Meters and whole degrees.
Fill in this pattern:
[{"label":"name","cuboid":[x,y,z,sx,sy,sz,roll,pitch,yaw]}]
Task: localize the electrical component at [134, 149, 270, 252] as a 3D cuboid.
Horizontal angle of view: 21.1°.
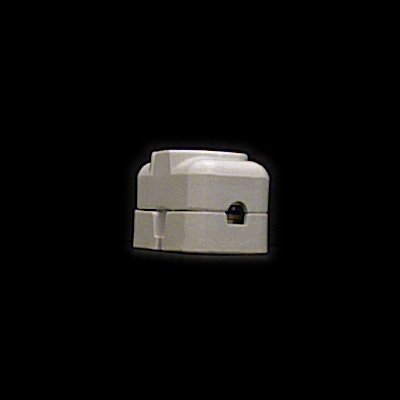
[{"label":"electrical component","cuboid":[0.000,0.000,0.655,0.054,0.059,0.094,1,0,-29]}]
